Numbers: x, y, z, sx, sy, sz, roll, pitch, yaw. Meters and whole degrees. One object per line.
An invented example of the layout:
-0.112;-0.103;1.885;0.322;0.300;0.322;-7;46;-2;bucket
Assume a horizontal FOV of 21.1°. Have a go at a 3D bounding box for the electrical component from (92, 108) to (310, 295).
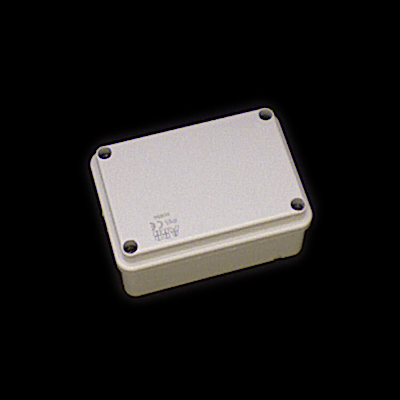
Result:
0.000;0.000;0.626;0.113;0.078;0.057;-14;-26;-8;electrical component
